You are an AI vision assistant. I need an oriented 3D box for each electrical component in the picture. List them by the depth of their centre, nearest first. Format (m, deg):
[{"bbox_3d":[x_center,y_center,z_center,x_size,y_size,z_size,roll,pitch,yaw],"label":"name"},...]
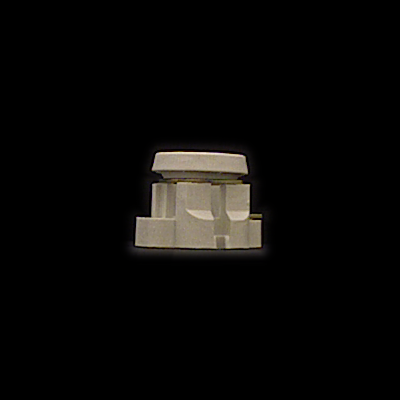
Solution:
[{"bbox_3d":[0.000,0.000,0.651,0.079,0.057,0.057,1,1,-30],"label":"electrical component"}]
